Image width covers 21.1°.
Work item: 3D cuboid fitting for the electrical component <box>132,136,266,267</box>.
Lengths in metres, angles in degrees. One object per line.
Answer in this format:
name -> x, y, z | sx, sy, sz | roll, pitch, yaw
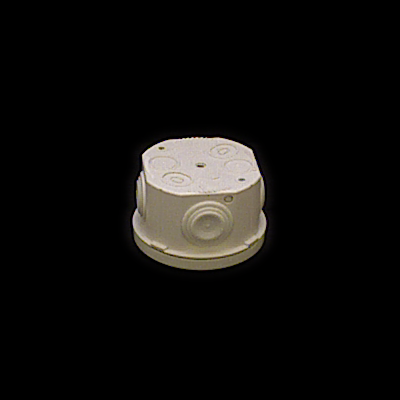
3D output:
electrical component -> 0.000, 0.000, 0.637 | 0.080, 0.051, 0.079 | 1, 32, -1
